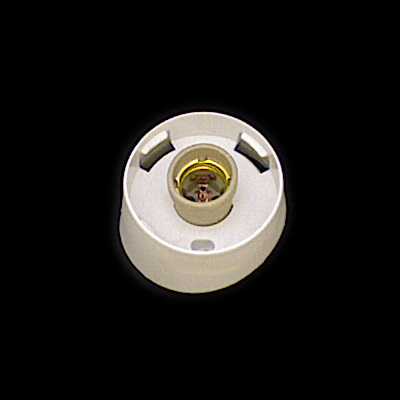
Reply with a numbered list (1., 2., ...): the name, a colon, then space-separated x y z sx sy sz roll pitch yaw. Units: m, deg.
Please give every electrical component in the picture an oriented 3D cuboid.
1. electrical component: 0.000 0.000 0.625 0.099 0.099 0.064 0 -27 0
